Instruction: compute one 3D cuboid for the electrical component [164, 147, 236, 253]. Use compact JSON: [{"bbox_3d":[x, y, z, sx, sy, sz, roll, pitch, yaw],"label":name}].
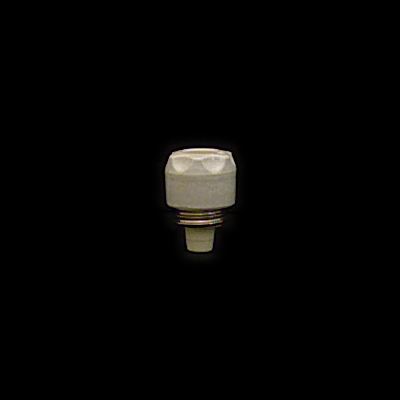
[{"bbox_3d":[0.000,0.000,0.651,0.043,0.062,0.043,0,12,0],"label":"electrical component"}]
